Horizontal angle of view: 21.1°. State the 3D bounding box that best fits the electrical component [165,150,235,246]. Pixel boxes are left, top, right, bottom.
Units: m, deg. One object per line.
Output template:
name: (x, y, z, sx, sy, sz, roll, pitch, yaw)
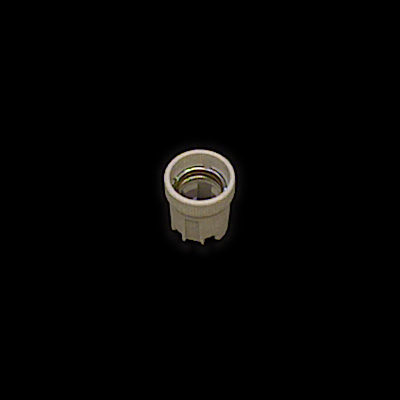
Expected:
electrical component: (0.000, 0.000, 0.629, 0.040, 0.040, 0.046, 0, -38, -1)
